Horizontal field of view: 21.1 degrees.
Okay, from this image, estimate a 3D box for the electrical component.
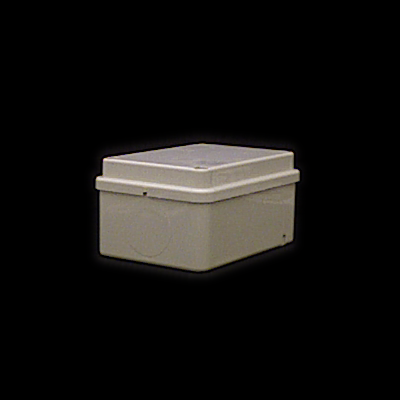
[{"bbox_3d":[0.000,0.000,0.643,0.078,0.057,0.113,8,12,32],"label":"electrical component"}]
